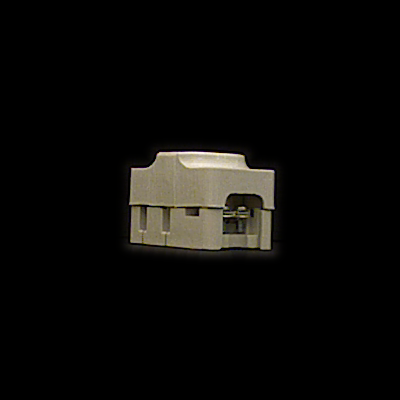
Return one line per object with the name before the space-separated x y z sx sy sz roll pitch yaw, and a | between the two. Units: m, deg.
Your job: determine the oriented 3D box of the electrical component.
electrical component | 0.000 0.000 0.657 0.050 0.056 0.089 0 1 -36
